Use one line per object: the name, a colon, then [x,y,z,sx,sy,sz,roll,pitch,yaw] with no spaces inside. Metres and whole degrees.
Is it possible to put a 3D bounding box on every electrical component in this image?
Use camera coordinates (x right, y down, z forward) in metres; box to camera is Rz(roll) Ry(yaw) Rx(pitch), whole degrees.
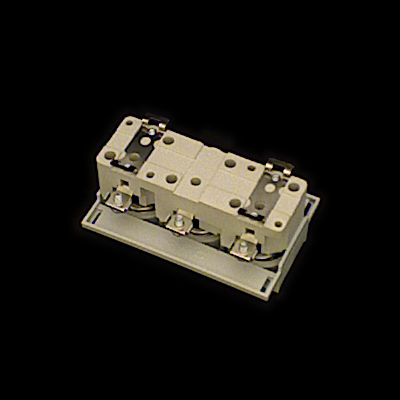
electrical component: [0.000,0.000,0.637,0.121,0.078,0.063,21,-35,15]
